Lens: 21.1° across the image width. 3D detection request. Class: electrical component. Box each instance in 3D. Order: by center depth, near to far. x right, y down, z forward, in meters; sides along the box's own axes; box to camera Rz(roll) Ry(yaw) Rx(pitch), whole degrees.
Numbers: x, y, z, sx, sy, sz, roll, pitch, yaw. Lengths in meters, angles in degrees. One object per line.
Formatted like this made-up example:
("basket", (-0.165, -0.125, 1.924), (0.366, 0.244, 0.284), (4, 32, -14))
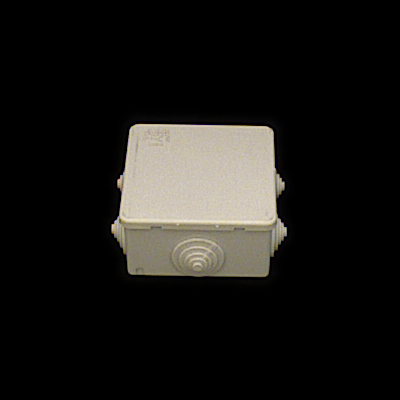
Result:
("electrical component", (0.000, 0.000, 0.642), (0.100, 0.049, 0.099), (1, 43, 0))
